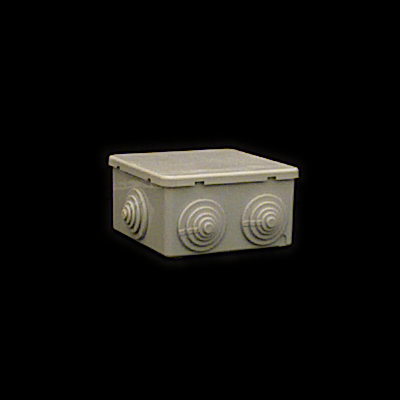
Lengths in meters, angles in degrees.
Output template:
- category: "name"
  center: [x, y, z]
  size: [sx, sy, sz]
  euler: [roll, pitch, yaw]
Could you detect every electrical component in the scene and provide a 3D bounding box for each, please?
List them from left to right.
- category: "electrical component"
  center: [0.000, 0.000, 0.650]
  size: [0.100, 0.049, 0.098]
  euler: [-4, 13, -26]
